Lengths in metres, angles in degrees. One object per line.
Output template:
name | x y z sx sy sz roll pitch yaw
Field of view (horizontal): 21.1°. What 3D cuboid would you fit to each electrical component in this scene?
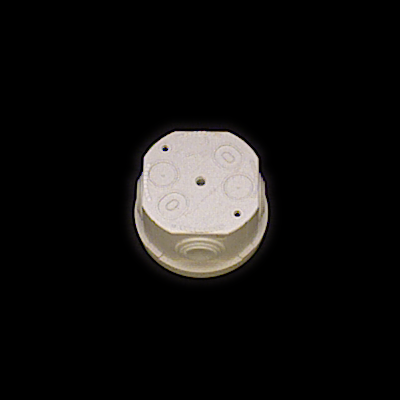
electrical component | 0.000 0.000 0.632 0.080 0.080 0.050 0 -28 1
